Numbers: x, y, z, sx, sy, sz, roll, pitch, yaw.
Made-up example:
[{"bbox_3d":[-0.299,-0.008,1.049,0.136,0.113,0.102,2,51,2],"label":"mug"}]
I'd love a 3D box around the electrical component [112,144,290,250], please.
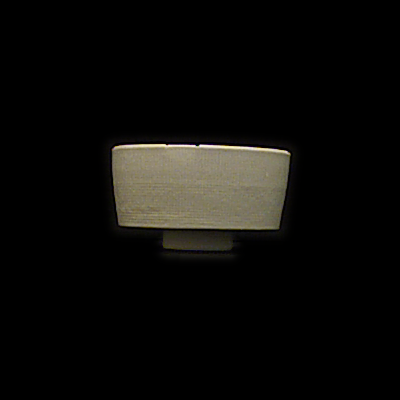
[{"bbox_3d":[0.000,0.000,0.652,0.108,0.060,0.108,1,0,0],"label":"electrical component"}]
